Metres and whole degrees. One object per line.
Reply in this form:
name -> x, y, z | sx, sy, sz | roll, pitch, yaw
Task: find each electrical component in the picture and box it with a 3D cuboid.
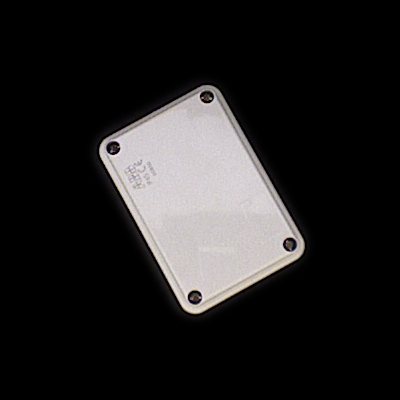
electrical component -> 0.000, 0.000, 0.627 | 0.078, 0.113, 0.057 | -29, -6, -3
